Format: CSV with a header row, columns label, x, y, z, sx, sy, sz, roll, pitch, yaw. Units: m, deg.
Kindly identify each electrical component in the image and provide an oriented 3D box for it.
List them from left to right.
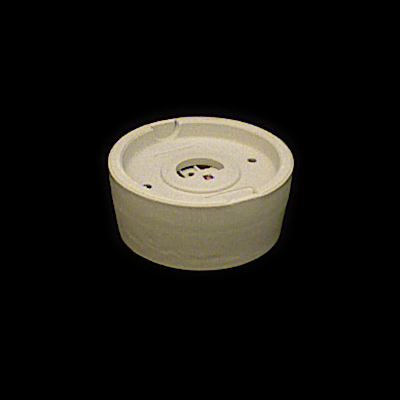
label,x,y,z,sx,sy,sz,roll,pitch,yaw
electrical component,0.000,0.000,0.640,0.108,0.061,0.106,1,32,0
